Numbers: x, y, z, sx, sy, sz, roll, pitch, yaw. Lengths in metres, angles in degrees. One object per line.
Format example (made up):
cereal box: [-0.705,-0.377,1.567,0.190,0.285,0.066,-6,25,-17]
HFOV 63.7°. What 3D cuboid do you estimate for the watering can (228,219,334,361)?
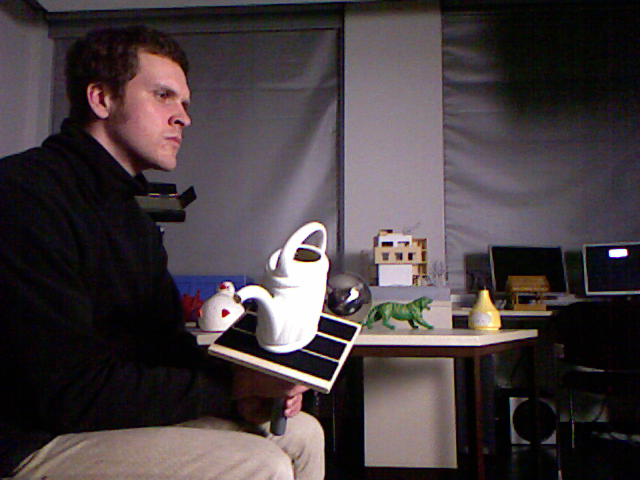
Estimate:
watering can: [-0.059,0.092,0.809,0.104,0.221,0.353,18,24,17]
